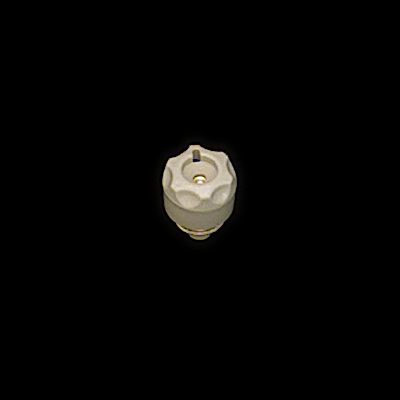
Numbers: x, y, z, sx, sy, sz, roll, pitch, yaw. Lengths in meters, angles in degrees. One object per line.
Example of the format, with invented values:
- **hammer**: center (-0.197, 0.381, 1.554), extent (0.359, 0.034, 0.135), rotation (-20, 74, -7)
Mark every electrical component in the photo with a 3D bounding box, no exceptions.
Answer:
- **electrical component**: center (0.000, 0.000, 0.635), extent (0.043, 0.043, 0.062), rotation (0, -36, -1)
